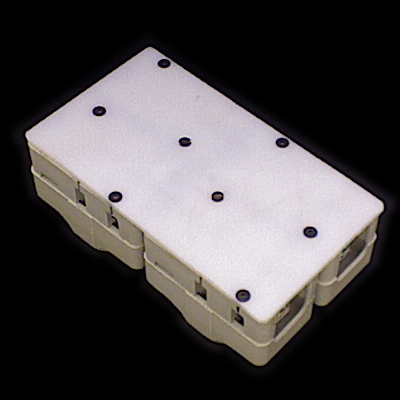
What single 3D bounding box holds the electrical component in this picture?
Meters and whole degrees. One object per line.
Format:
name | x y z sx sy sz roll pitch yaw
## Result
electrical component | 0.000 0.000 0.627 0.185 0.060 0.105 36 60 24
